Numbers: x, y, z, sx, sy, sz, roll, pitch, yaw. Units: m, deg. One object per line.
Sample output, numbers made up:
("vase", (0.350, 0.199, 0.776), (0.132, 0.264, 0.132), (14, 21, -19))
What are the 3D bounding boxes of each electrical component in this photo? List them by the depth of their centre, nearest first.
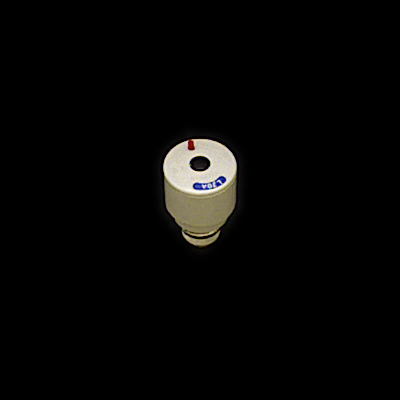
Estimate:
("electrical component", (0.000, 0.000, 0.622), (0.040, 0.040, 0.079), (0, -38, 0))
